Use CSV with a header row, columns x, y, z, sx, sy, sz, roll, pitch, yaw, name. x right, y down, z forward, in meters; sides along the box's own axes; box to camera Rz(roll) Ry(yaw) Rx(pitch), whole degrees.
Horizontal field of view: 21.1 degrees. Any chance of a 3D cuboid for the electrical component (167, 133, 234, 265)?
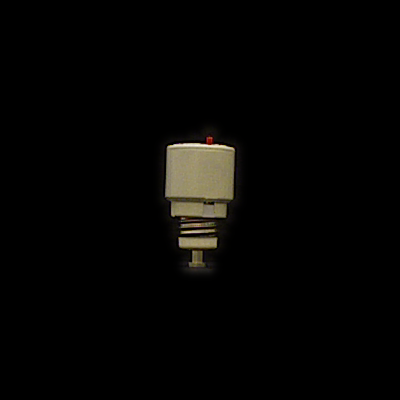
x,y,z,sx,sy,sz,roll,pitch,yaw,name
0.000,0.000,0.647,0.040,0.078,0.040,2,1,0,electrical component
